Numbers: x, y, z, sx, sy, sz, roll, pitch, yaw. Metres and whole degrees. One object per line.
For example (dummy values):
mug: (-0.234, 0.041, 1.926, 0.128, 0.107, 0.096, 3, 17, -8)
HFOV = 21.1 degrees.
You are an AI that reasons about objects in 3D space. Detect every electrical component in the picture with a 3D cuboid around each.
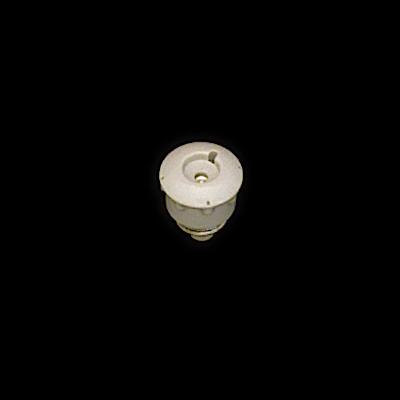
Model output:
electrical component: (0.000, 0.000, 0.636, 0.048, 0.048, 0.062, 0, -37, 0)
